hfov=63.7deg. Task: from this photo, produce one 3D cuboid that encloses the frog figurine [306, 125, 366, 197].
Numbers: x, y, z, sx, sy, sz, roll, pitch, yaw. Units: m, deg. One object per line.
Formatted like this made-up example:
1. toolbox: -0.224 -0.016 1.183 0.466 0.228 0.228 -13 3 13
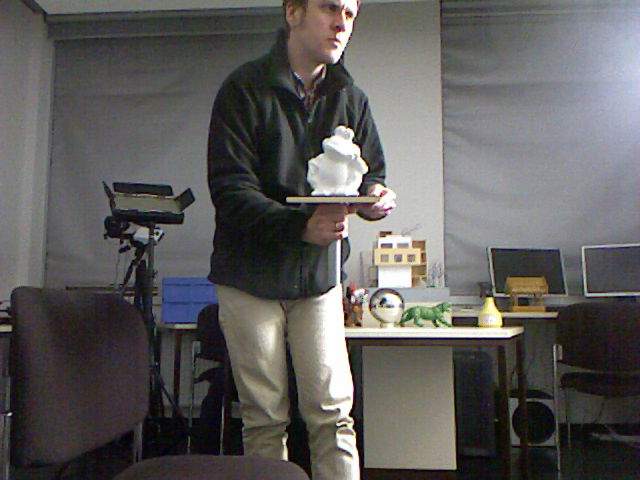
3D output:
1. frog figurine: 0.035 -0.179 1.173 0.137 0.159 0.123 3 7 21
